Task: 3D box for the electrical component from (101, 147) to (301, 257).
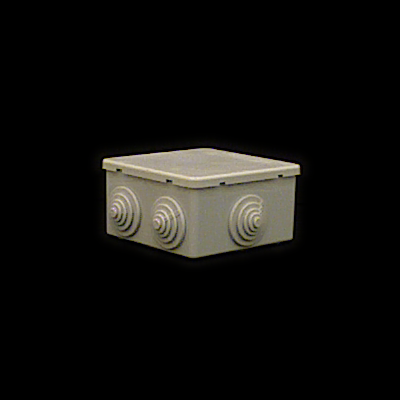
[{"bbox_3d":[0.000,0.000,0.653,0.100,0.049,0.098,-9,15,-41],"label":"electrical component"}]
